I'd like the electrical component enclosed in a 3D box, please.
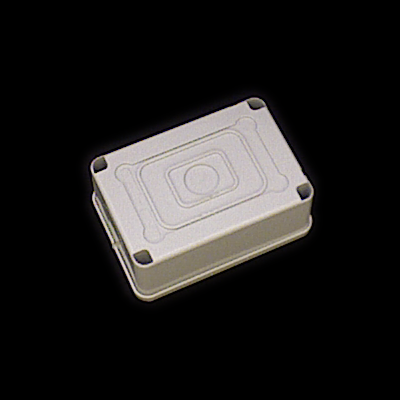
[{"bbox_3d":[0.000,0.000,0.628,0.113,0.078,0.057,-22,-25,-11],"label":"electrical component"}]
